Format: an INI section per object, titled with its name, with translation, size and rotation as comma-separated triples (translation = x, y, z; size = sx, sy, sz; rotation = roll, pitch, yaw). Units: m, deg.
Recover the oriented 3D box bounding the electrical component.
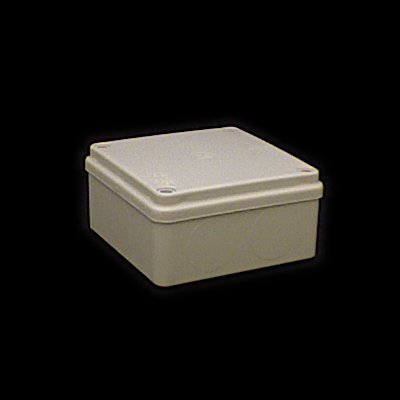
[electrical component]
translation = 0.000, 0.000, 0.641
size = 0.109, 0.057, 0.107
rotation = -9, 23, -27
